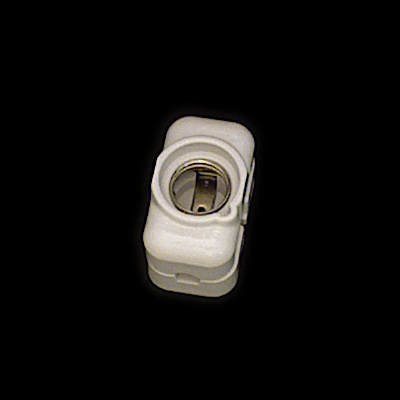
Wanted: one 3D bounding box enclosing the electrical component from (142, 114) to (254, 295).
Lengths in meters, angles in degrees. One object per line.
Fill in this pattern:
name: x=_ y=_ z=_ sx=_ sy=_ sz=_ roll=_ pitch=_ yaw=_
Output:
electrical component: x=0.000 y=0.000 z=0.634 sx=0.053 sy=0.095 sz=0.059 roll=8 pitch=-26 yaw=5
